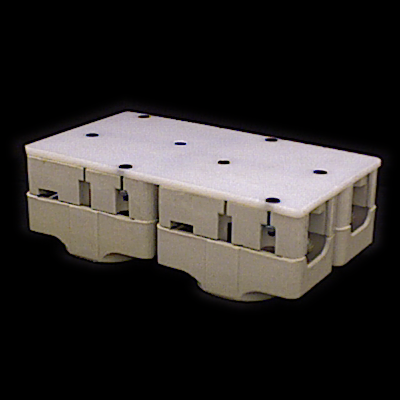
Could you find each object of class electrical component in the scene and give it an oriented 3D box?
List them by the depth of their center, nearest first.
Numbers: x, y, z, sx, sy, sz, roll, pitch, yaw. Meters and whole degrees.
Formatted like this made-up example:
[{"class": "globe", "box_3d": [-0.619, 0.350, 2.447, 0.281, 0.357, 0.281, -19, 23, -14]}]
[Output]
[{"class": "electrical component", "box_3d": [0.000, 0.000, 0.638, 0.185, 0.061, 0.105, 13, 23, 30]}]
